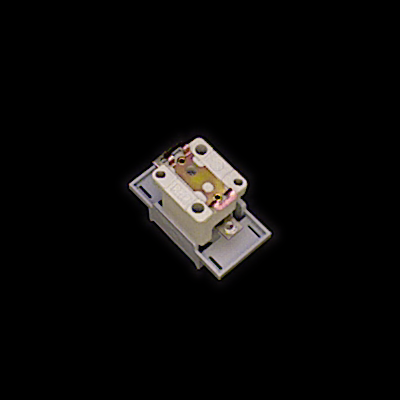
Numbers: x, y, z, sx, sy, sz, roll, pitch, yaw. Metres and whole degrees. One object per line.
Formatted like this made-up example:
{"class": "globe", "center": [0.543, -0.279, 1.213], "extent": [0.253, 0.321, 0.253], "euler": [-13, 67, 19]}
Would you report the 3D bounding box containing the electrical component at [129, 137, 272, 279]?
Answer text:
{"class": "electrical component", "center": [0.000, 0.000, 0.625], "extent": [0.042, 0.081, 0.063], "euler": [-39, -21, -18]}
